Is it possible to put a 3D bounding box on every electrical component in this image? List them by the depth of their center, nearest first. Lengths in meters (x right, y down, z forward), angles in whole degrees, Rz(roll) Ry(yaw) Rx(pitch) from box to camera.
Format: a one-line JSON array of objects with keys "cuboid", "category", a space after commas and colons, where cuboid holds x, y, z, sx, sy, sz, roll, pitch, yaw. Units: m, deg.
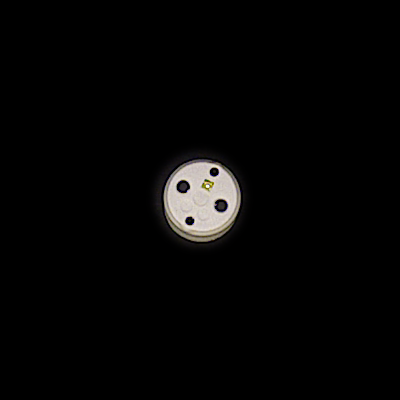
[{"cuboid": [0.000, 0.000, 0.629, 0.045, 0.045, 0.055, 0, -6, 0], "category": "electrical component"}]
